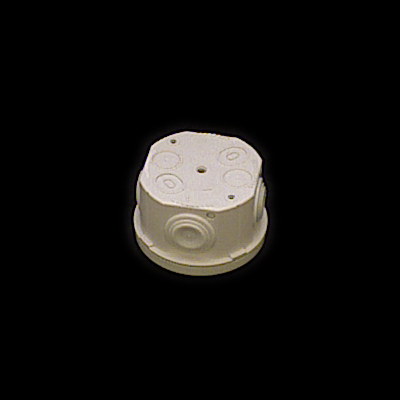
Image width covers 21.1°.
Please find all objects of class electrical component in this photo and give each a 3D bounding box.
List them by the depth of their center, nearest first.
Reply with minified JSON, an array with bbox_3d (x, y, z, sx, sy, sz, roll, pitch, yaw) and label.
[{"bbox_3d":[0.000,0.000,0.634,0.080,0.051,0.080,1,43,-1],"label":"electrical component"}]
